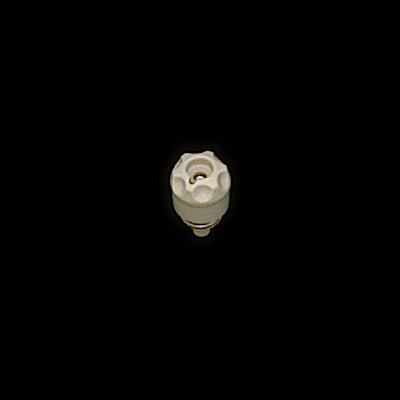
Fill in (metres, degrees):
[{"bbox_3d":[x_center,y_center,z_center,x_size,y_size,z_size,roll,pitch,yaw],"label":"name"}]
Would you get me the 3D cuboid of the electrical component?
[{"bbox_3d":[0.000,0.000,0.634,0.035,0.035,0.061,0,-37,0],"label":"electrical component"}]
